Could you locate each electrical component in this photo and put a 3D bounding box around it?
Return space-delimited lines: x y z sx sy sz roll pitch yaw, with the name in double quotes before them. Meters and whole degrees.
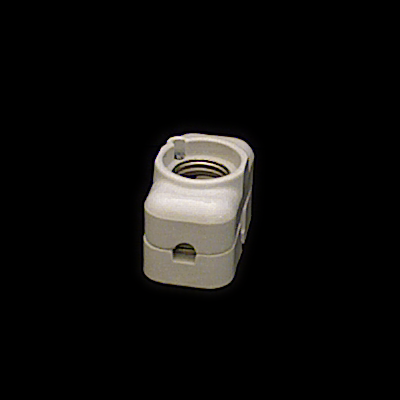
"electrical component" 0.000 0.000 0.641 0.053 0.060 0.094 6 32 8
